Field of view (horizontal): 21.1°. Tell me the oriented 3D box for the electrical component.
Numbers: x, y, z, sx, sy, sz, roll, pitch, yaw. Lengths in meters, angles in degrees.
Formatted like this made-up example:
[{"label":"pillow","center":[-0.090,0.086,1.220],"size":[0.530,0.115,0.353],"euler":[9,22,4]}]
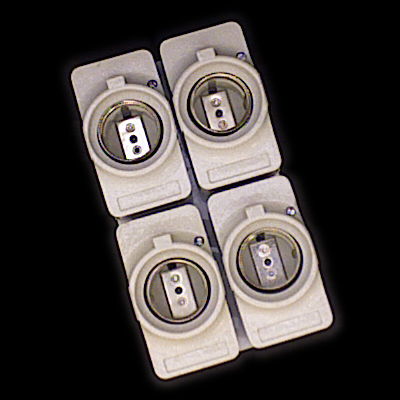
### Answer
[{"label":"electrical component","center":[0.000,0.000,0.626],"size":[0.105,0.187,0.060],"euler":[-17,-7,-2]}]
